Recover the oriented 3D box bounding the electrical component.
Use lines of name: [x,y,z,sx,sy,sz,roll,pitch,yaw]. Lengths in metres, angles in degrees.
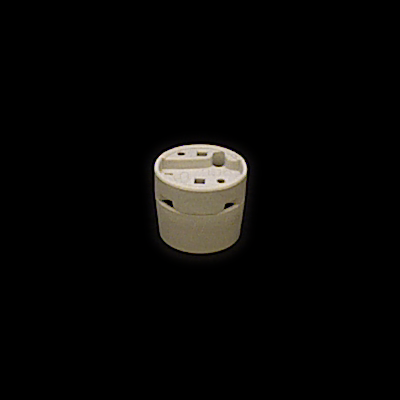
electrical component: [0.000,0.000,0.639,0.055,0.047,0.055,1,32,0]
